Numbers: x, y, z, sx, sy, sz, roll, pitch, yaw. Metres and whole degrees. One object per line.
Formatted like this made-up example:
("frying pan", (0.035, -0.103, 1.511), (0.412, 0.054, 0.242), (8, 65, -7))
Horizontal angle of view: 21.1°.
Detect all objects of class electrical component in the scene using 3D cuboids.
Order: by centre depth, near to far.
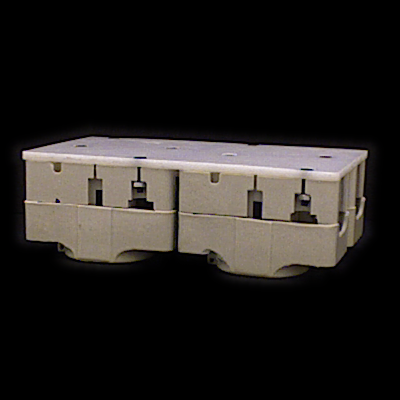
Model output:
("electrical component", (0.000, 0.000, 0.644), (0.186, 0.061, 0.105), (4, 11, 16))
